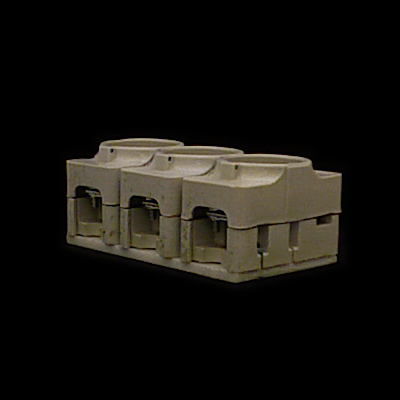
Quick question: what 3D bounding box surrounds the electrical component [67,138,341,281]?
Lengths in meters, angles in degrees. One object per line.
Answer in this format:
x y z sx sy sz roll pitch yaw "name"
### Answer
0.000 0.000 0.649 0.149 0.062 0.089 10 14 44 "electrical component"
